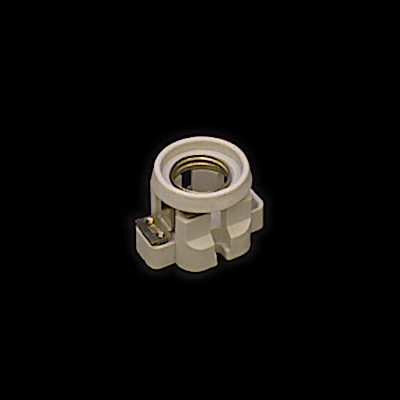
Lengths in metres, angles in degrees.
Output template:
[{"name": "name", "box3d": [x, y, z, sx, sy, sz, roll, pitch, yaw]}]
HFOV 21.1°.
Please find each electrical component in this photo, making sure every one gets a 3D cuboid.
[{"name": "electrical component", "box3d": [0.000, 0.000, 0.630, 0.078, 0.057, 0.057, -21, 46, -22]}]
